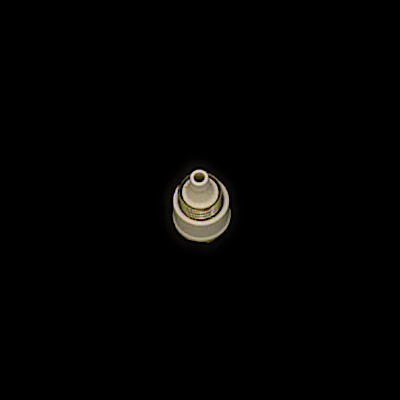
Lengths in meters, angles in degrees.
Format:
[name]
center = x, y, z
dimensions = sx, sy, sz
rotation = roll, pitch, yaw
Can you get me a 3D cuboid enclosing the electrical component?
[electrical component]
center = 0.000, 0.000, 0.637
dimensions = 0.035, 0.035, 0.061
rotation = 0, -26, 2
